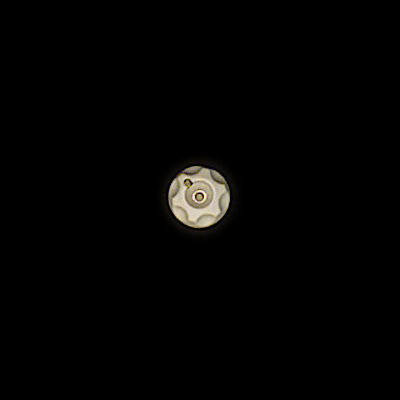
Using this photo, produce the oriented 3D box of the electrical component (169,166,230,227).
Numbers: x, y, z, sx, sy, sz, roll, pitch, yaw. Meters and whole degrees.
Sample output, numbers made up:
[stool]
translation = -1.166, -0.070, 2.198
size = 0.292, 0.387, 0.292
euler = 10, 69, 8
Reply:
[electrical component]
translation = 0.000, 0.000, 0.635
size = 0.035, 0.035, 0.061
euler = 0, -6, 1
